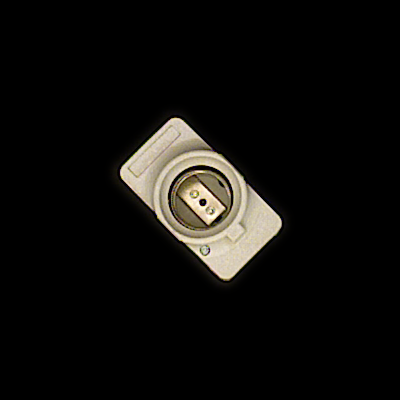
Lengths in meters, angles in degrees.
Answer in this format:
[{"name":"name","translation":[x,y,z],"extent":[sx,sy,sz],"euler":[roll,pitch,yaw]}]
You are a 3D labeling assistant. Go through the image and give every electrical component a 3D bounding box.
[{"name":"electrical component","translation":[0.000,0.000,0.637],"extent":[0.089,0.050,0.055],"euler":[45,-3,5]}]
